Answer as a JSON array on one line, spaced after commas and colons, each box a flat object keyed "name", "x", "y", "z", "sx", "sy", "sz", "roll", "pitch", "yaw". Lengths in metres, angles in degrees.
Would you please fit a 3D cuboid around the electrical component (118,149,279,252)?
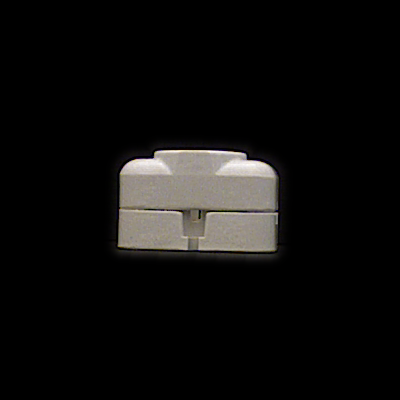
[{"name": "electrical component", "x": 0.000, "y": 0.000, "z": 0.658, "sx": 0.095, "sy": 0.059, "sz": 0.054, "roll": 2, "pitch": 2, "yaw": 6}]
